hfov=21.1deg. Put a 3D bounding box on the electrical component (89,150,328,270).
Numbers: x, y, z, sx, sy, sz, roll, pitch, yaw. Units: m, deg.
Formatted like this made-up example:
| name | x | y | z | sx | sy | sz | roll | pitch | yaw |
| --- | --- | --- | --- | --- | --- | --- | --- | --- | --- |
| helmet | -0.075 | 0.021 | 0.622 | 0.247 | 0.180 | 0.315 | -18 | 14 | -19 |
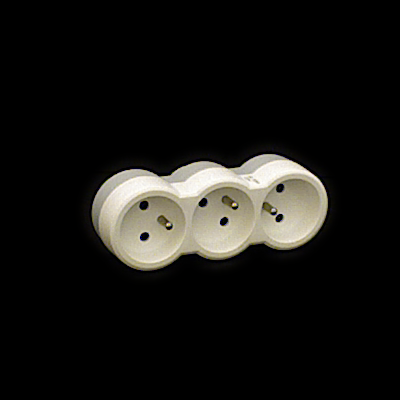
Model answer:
| name | x | y | z | sx | sy | sz | roll | pitch | yaw |
| --- | --- | --- | --- | --- | --- | --- | --- | --- | --- |
| electrical component | 0.000 | 0.000 | 0.650 | 0.139 | 0.053 | 0.072 | -7 | 22 | -21 |
